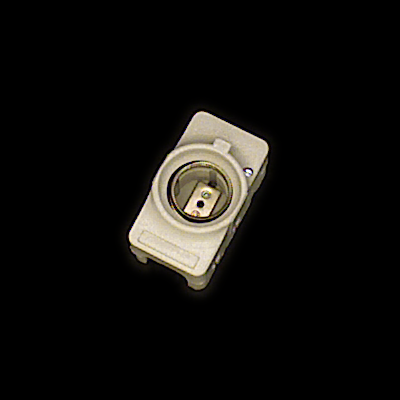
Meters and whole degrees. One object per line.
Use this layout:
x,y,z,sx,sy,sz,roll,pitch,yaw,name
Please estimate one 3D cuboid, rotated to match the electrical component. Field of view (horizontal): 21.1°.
0.000,0.000,0.636,0.050,0.090,0.055,26,-14,7,electrical component
